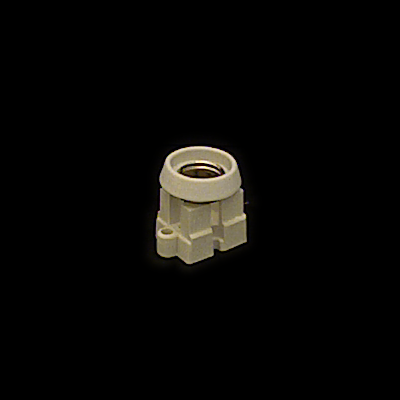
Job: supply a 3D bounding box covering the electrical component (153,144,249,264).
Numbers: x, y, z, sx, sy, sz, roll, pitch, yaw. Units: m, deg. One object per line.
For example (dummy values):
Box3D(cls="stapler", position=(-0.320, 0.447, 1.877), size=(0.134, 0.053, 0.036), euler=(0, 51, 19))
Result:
Box3D(cls="electrical component", position=(0.000, 0.000, 0.644), size=(0.067, 0.056, 0.047), euler=(-21, 40, -31))
